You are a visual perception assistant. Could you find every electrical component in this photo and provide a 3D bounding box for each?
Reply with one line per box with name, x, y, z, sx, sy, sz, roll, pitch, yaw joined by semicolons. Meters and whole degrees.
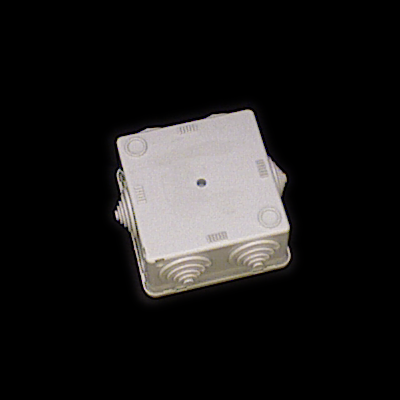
electrical component;0.000;0.000;0.631;0.100;0.099;0.048;-12;-26;-6
